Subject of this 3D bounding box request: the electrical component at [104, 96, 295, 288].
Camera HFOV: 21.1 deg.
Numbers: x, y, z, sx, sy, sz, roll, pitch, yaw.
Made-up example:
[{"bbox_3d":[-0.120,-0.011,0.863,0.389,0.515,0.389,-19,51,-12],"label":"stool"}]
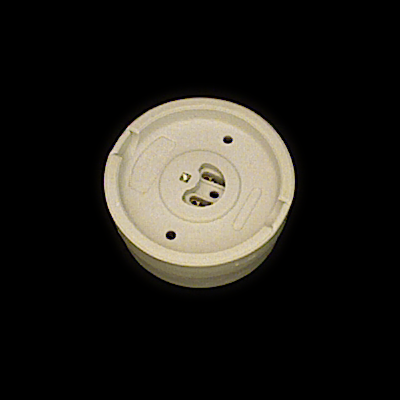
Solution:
[{"bbox_3d":[0.000,0.000,0.633,0.108,0.108,0.060,0,-26,-1],"label":"electrical component"}]
